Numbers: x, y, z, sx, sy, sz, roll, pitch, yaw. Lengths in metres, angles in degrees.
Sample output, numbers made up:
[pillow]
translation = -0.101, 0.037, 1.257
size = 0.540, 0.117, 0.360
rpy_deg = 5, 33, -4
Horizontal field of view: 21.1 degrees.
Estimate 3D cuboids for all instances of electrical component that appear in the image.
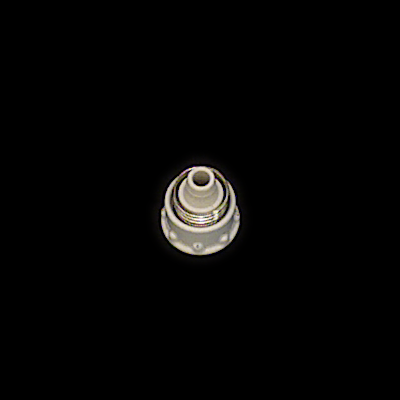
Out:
[electrical component]
translation = 0.000, 0.000, 0.634
size = 0.048, 0.048, 0.062
rpy_deg = 0, -26, 0
